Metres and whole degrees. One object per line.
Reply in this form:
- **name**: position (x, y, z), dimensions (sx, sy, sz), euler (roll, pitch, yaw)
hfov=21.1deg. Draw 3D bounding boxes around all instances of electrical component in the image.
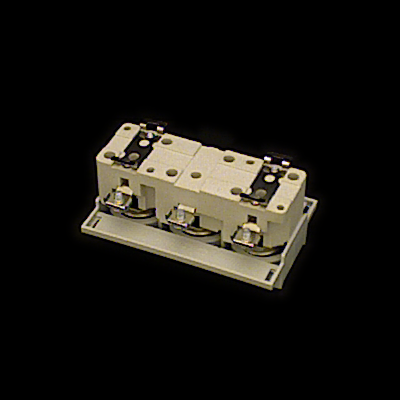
- **electrical component**: position (0.000, 0.000, 0.640), dimensions (0.121, 0.063, 0.078), euler (16, 44, 16)
